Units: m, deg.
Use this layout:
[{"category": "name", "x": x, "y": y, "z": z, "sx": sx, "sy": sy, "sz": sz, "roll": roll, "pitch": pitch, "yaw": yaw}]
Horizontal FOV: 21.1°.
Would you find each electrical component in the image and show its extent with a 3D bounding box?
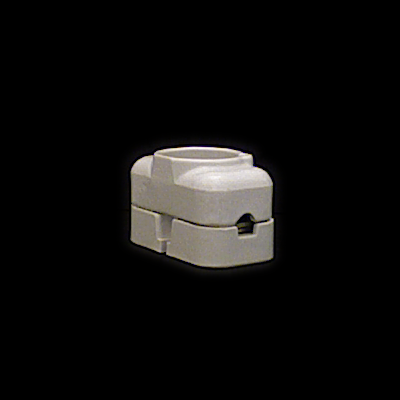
[{"category": "electrical component", "x": 0.000, "y": 0.000, "z": 0.652, "sx": 0.054, "sy": 0.060, "sz": 0.094, "roll": -8, "pitch": 15, "yaw": -35}]
